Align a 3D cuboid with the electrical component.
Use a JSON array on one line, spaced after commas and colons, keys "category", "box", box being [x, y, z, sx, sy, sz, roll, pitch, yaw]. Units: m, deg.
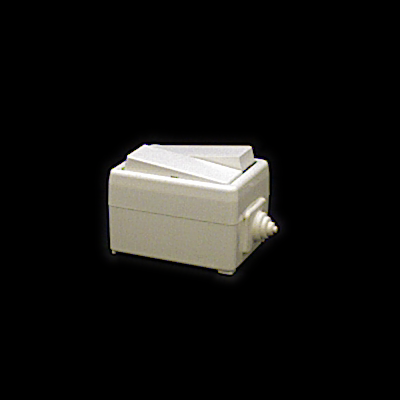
[{"category": "electrical component", "box": [0.000, 0.000, 0.638, 0.096, 0.061, 0.061, 9, 22, 21]}]
